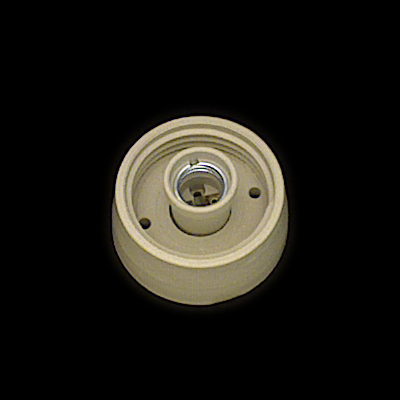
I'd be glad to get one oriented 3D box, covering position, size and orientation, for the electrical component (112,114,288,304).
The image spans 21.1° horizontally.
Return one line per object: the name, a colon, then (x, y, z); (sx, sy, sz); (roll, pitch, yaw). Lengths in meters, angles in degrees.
electrical component: (0.000, 0.000, 0.633); (0.108, 0.108, 0.060); (0, -27, 0)
